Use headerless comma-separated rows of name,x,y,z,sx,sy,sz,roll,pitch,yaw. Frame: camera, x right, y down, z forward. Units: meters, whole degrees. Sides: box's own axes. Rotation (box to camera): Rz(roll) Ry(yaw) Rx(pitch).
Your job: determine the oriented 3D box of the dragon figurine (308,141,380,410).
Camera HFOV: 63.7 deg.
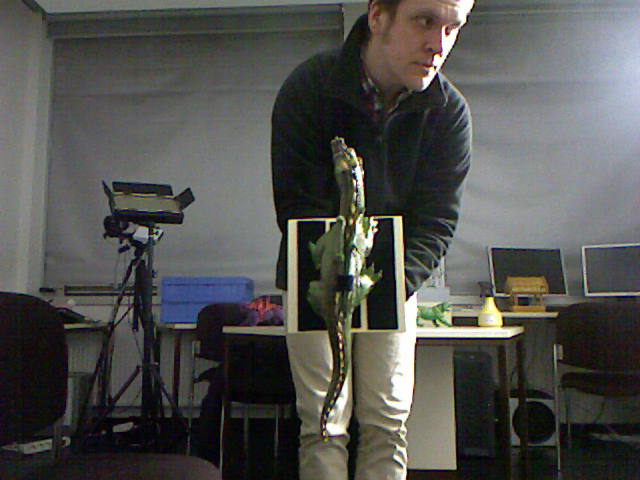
dragon figurine,0.031,0.059,0.767,0.122,0.415,0.242,0,-9,5
